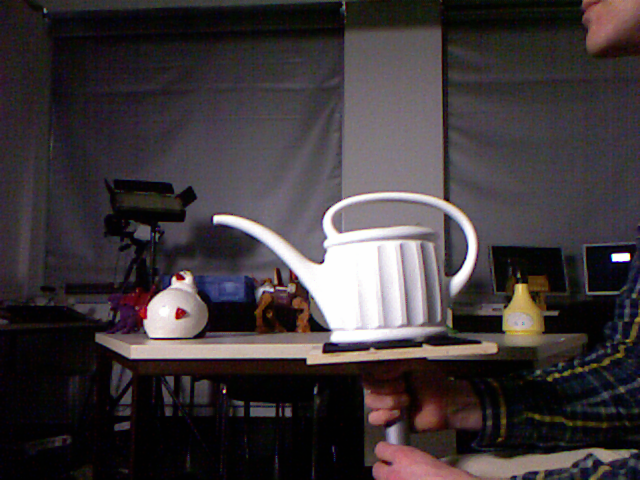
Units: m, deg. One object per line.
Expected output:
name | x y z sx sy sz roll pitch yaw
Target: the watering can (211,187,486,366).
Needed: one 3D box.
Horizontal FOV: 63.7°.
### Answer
watering can | 0.040 0.047 0.662 0.352 0.228 0.105 -3 -5 -1
